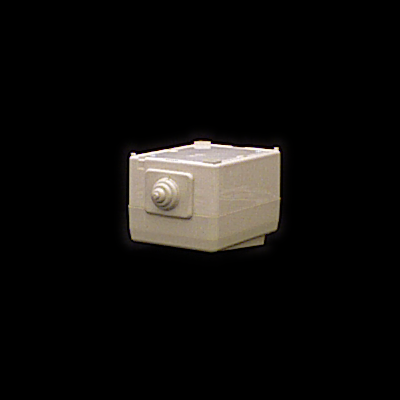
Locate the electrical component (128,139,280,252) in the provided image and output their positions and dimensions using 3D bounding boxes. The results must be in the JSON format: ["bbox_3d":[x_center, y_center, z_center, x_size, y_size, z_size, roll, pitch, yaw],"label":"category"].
[{"bbox_3d":[0.000,0.000,0.645,0.061,0.061,0.096,8,13,31],"label":"electrical component"}]
